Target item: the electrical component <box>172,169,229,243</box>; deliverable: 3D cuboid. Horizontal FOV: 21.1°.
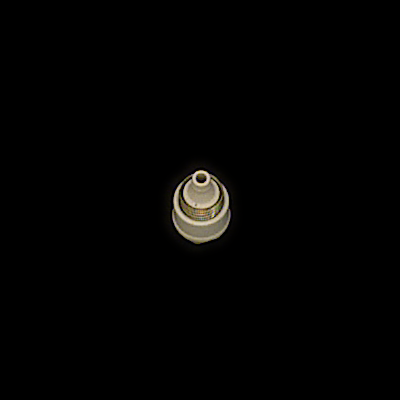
[{"bbox_3d":[0.000,0.000,0.638,0.035,0.035,0.061,0,-25,0],"label":"electrical component"}]
